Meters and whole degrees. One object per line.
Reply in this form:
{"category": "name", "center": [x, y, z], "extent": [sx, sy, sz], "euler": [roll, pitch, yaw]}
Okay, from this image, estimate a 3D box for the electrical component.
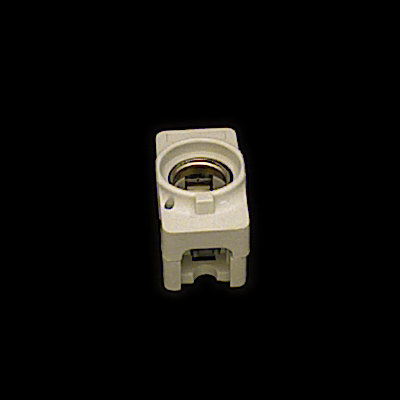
{"category": "electrical component", "center": [0.000, 0.000, 0.639], "extent": [0.050, 0.056, 0.088], "euler": [-3, 43, -4]}
